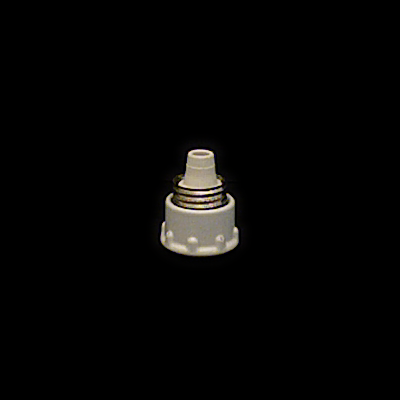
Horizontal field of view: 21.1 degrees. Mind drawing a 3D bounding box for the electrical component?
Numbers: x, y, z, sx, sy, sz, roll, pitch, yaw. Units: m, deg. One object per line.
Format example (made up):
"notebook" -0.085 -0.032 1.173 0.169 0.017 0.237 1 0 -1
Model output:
"electrical component" 0.000 0.000 0.647 0.048 0.063 0.047 1 21 0
